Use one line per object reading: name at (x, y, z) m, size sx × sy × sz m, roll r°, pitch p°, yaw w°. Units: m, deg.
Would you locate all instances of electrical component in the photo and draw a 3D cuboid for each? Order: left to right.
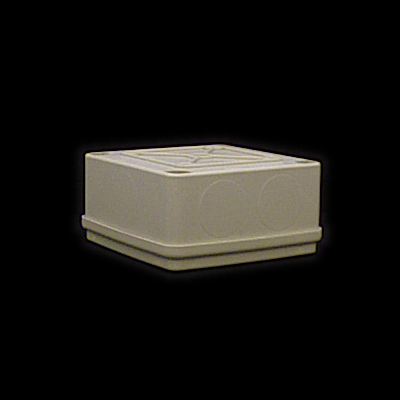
electrical component at (0.000, 0.000, 0.643) m, size 0.109 × 0.056 × 0.107 m, roll -6°, pitch 12°, yaw -34°
